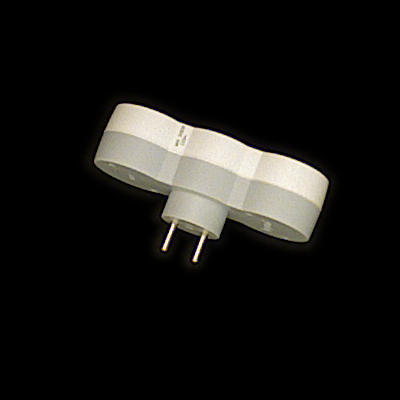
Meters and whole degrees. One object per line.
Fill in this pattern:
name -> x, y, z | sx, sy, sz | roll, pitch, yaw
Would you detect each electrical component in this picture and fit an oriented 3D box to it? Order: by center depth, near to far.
electrical component -> 0.000, 0.000, 0.637 | 0.138, 0.074, 0.052 | 20, -14, 6
